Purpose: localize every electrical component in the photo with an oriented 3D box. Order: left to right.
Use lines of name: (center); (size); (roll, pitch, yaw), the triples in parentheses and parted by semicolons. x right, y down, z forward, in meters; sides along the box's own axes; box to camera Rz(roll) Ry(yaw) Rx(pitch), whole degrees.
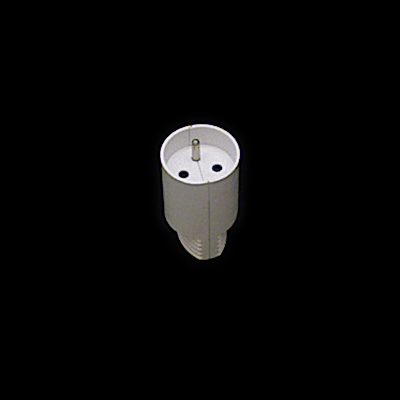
electrical component: (0.000, 0.000, 0.619); (0.043, 0.043, 0.081); (0, -39, -1)
